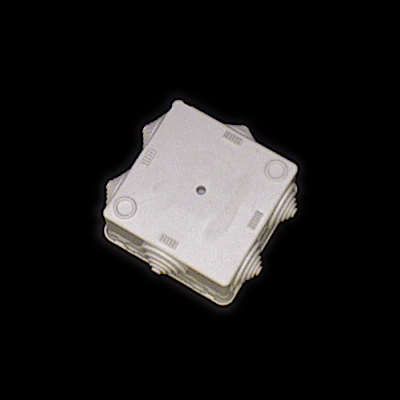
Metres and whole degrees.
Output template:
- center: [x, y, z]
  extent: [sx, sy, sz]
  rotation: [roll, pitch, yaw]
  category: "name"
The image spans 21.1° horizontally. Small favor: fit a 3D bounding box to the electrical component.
- center: [0.000, 0.000, 0.632]
  extent: [0.099, 0.100, 0.048]
  rotation: [30, -14, 8]
  category: "electrical component"
